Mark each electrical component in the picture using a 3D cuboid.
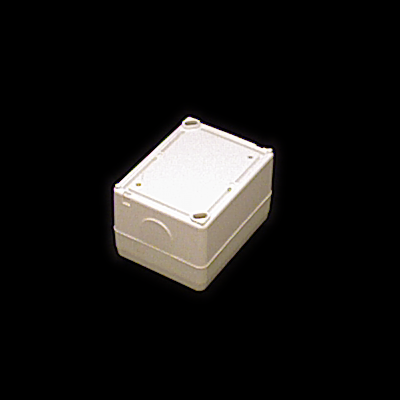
[{"bbox_3d":[0.000,0.000,0.631,0.061,0.061,0.096,23,46,23],"label":"electrical component"}]
